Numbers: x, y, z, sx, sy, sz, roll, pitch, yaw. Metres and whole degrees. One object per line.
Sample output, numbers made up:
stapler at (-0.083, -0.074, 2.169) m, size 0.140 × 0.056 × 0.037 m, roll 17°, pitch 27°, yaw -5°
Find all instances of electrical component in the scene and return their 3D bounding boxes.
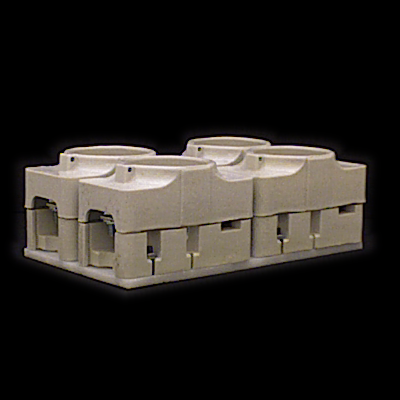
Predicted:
electrical component at (0.000, 0.000, 0.643) m, size 0.186 × 0.061 × 0.105 m, roll -7°, pitch 13°, yaw -39°
